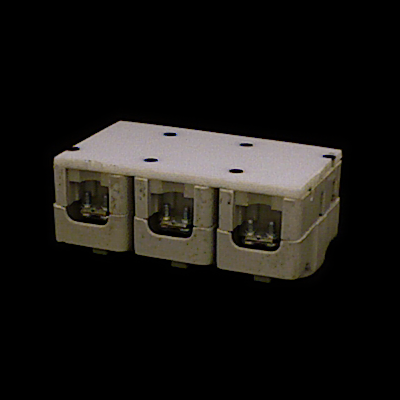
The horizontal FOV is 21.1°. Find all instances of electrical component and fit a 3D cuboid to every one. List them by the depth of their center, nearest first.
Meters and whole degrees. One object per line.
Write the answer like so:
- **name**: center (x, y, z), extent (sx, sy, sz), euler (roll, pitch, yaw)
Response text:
- **electrical component**: center (0.000, 0.000, 0.644), extent (0.149, 0.063, 0.088), euler (9, 21, 20)
